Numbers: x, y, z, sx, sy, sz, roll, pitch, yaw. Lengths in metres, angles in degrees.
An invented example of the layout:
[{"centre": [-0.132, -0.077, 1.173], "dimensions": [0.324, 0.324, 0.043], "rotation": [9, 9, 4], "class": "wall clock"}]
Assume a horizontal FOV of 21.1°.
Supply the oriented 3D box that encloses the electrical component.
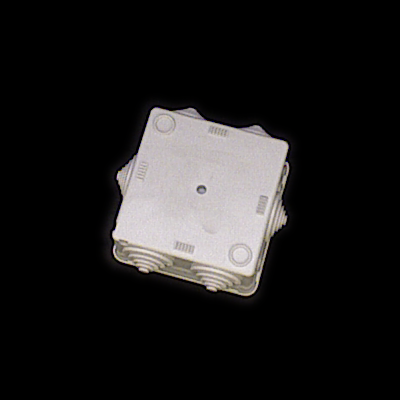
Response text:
[{"centre": [0.000, 0.000, 0.631], "dimensions": [0.099, 0.100, 0.048], "rotation": [15, -16, 5], "class": "electrical component"}]
